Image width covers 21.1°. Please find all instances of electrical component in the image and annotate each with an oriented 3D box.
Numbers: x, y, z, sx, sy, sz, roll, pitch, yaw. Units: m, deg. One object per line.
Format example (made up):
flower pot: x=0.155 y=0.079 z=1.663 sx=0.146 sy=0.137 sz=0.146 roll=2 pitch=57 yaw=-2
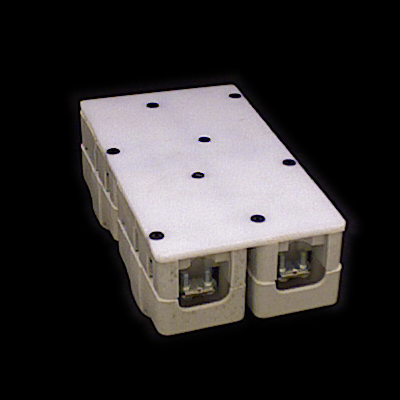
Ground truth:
electrical component: x=0.000 y=0.000 z=0.633 sx=0.105 sy=0.061 sz=0.183 roll=-8 pitch=32 yaw=-16
